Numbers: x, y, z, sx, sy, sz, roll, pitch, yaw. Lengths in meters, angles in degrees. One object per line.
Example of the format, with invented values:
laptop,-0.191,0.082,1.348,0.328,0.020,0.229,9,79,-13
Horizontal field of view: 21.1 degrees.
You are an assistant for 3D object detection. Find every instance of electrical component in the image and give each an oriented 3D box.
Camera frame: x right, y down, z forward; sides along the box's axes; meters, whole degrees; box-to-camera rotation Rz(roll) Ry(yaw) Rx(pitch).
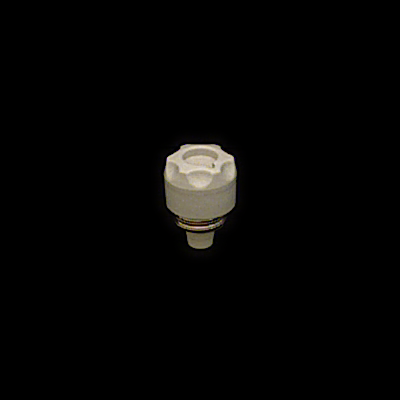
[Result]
electrical component,0.000,0.000,0.642,0.043,0.063,0.043,0,32,0
